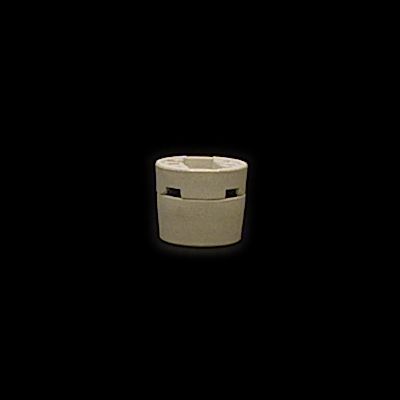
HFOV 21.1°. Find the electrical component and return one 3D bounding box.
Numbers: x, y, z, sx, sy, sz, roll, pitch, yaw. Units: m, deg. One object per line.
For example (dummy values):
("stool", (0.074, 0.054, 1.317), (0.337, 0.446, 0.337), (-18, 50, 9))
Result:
("electrical component", (0.000, 0.000, 0.645), (0.055, 0.047, 0.055), (1, 11, 0))
